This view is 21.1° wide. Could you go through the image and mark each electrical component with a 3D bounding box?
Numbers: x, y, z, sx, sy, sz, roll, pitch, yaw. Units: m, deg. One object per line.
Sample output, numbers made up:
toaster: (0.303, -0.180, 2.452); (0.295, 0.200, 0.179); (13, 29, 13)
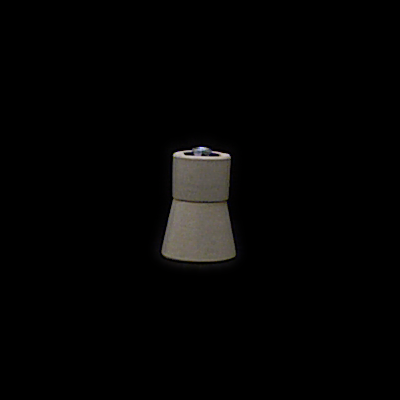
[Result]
electrical component: (0.000, 0.000, 0.643); (0.044, 0.066, 0.044); (2, 11, 0)
